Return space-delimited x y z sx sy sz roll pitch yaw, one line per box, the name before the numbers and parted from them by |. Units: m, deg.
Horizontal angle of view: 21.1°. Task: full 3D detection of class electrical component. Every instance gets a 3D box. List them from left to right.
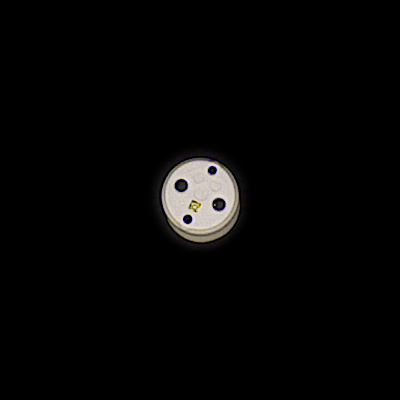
electrical component | 0.000 0.000 0.630 0.045 0.045 0.055 0 -7 1
